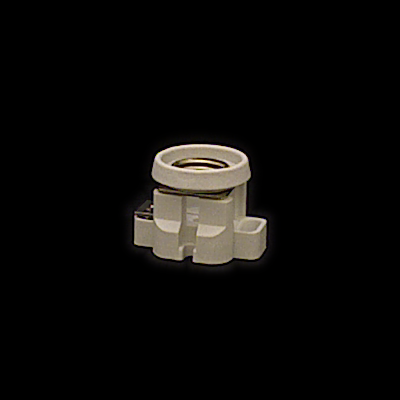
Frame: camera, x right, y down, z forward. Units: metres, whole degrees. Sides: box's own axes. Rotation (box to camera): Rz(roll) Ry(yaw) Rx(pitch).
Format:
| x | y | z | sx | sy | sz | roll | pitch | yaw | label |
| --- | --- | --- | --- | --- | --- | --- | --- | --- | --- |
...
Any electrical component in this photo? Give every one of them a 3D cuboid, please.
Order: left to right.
| x | y | z | sx | sy | sz | roll | pitch | yaw | label |
| --- | --- | --- | --- | --- | --- | --- | --- | --- | --- |
| 0.000 | 0.000 | 0.639 | 0.078 | 0.057 | 0.057 | 7 | 22 | 15 | electrical component |
